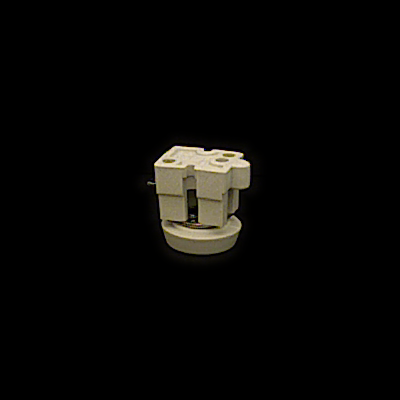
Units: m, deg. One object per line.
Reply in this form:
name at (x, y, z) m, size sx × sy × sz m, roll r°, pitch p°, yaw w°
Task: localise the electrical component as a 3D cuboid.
electrical component at (0.000, 0.000, 0.648) m, size 0.066 × 0.056 × 0.048 m, roll 7°, pitch 24°, yaw 18°
